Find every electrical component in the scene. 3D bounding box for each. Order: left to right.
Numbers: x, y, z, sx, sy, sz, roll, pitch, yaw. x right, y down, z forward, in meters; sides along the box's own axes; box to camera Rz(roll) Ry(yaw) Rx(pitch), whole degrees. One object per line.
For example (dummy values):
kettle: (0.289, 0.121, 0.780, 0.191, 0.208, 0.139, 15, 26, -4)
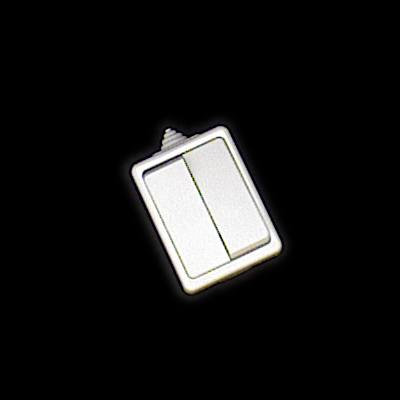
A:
electrical component: (0.000, 0.000, 0.627, 0.062, 0.096, 0.061, -24, -6, -2)
